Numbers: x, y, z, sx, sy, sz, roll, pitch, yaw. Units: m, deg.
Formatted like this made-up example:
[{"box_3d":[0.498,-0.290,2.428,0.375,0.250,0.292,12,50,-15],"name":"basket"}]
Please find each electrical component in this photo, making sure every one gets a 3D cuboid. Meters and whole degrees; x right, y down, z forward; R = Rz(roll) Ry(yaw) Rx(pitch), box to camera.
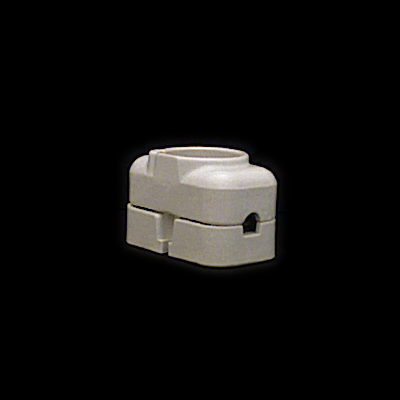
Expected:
[{"box_3d":[0.000,0.000,0.650,0.054,0.060,0.094,-8,14,-40],"name":"electrical component"}]
